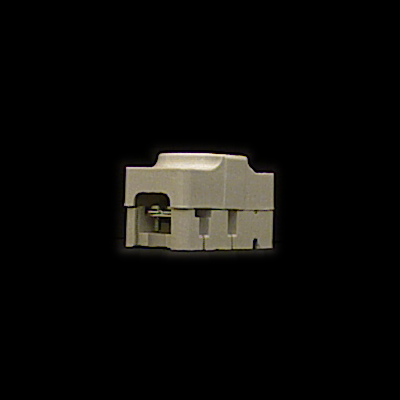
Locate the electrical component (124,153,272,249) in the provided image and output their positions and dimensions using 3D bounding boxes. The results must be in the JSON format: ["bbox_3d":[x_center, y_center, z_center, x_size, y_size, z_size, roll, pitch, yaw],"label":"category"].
[{"bbox_3d":[0.000,0.000,0.657,0.050,0.056,0.090,3,2,39],"label":"electrical component"}]
